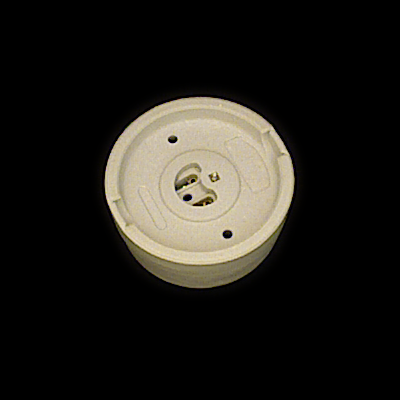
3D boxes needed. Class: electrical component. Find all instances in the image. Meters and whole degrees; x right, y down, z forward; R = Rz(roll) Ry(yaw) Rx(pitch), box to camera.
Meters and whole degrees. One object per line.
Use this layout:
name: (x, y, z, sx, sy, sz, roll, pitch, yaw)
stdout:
electrical component: (0.000, 0.000, 0.636, 0.108, 0.108, 0.060, 0, -27, 0)
